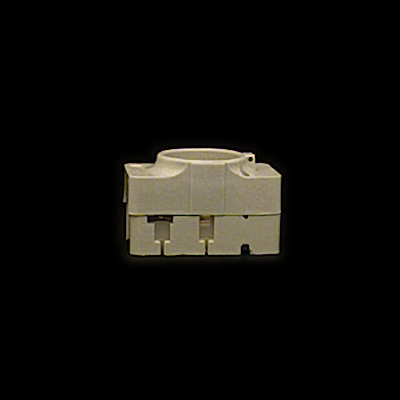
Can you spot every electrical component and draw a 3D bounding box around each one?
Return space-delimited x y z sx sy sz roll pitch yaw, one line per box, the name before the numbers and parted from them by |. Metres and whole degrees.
electrical component | 0.000 0.000 0.651 0.090 0.056 0.049 -1 12 -9
